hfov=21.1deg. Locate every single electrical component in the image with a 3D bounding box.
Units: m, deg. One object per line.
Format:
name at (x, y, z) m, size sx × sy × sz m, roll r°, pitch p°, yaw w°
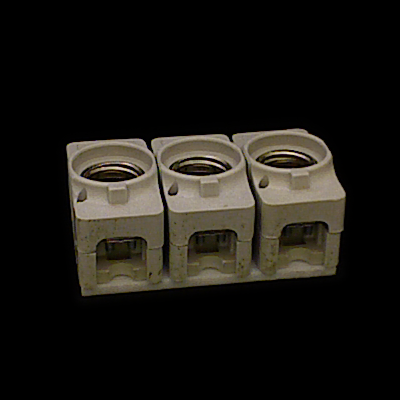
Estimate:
electrical component at (0.000, 0.000, 0.639) m, size 0.150 × 0.063 × 0.087 m, roll -5°, pitch 32°, yaw -9°
